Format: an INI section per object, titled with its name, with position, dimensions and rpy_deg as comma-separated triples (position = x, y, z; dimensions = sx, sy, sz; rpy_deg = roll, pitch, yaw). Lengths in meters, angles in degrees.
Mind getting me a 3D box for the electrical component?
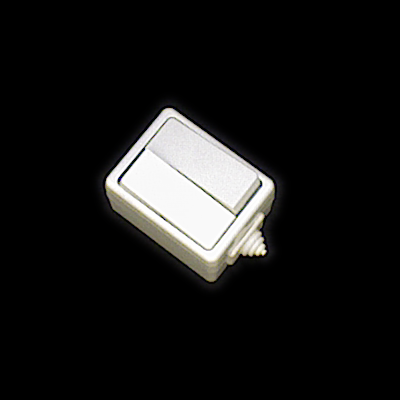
[electrical component]
position = 0.000, 0.000, 0.626
dimensions = 0.096, 0.062, 0.060
rpy_deg = 37, -13, 10
